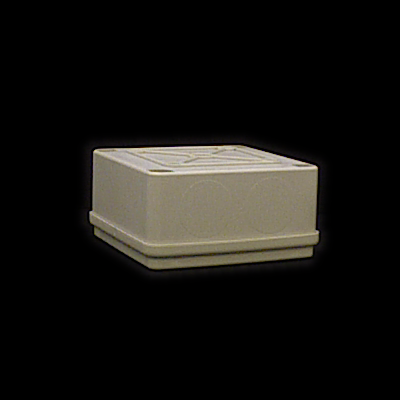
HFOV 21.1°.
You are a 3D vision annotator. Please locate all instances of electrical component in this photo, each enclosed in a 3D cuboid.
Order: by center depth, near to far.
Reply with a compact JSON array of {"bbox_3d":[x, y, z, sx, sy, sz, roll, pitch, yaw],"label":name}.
[{"bbox_3d":[0.000,0.000,0.645,0.109,0.056,0.108,-3,12,-24],"label":"electrical component"}]
